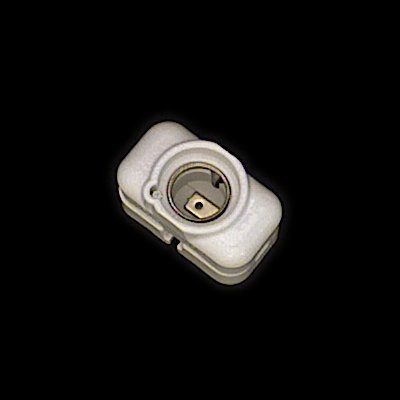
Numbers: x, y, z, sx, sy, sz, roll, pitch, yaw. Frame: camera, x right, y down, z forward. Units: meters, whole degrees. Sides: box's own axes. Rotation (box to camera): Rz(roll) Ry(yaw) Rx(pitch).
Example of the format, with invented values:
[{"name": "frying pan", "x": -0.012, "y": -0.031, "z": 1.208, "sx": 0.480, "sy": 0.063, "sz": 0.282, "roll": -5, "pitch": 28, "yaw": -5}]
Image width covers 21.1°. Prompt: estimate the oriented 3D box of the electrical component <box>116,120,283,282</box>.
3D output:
[{"name": "electrical component", "x": 0.000, "y": 0.000, "z": 0.633, "sx": 0.095, "sy": 0.054, "sz": 0.059, "roll": 36, "pitch": -13, "yaw": 10}]
